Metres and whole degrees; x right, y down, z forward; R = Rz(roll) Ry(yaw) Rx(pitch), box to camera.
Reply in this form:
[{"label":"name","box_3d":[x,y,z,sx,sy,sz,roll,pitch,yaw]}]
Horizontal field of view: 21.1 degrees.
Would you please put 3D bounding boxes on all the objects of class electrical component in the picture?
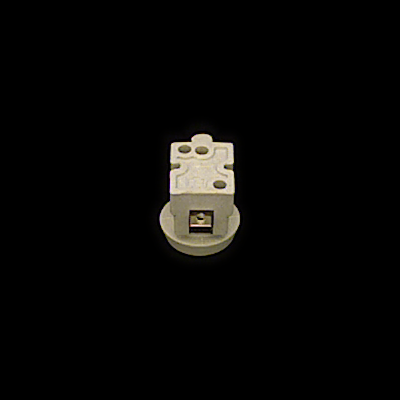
[{"label":"electrical component","box_3d":[0.000,0.000,0.641,0.048,0.056,0.066,1,43,-1]}]
